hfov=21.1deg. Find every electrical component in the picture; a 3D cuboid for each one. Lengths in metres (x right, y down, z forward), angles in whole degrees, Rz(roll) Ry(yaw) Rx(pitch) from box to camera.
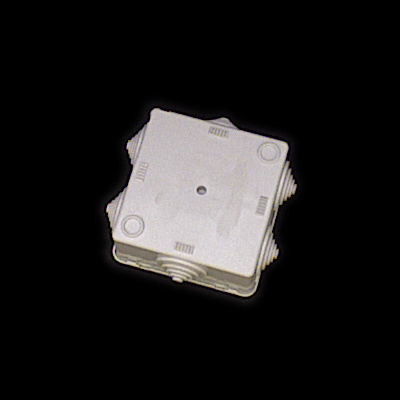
[{"bbox_3d":[0.000,0.000,0.632,0.100,0.100,0.048,15,-16,4],"label":"electrical component"}]
